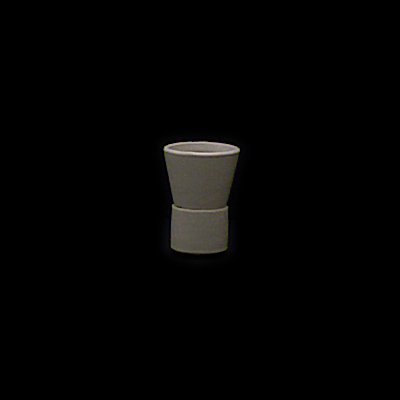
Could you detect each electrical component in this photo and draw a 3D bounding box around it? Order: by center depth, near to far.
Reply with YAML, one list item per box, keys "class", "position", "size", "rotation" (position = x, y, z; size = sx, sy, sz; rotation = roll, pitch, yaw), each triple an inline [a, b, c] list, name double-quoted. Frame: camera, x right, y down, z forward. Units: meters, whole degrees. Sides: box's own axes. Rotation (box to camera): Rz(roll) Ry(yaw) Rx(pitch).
- class: "electrical component"
  position: [0.000, 0.000, 0.642]
  size: [0.044, 0.066, 0.044]
  rotation: [2, 12, 0]
